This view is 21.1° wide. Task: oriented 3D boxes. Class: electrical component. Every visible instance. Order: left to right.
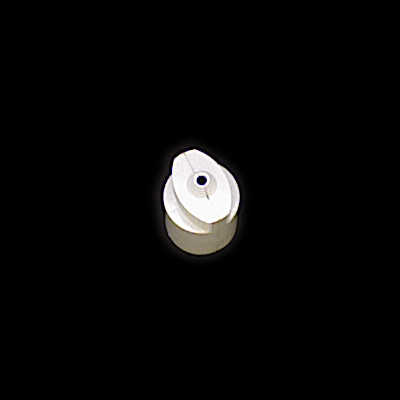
[{"bbox_3d":[0.000,0.000,0.616,0.043,0.043,0.080,0,-17,0],"label":"electrical component"}]
